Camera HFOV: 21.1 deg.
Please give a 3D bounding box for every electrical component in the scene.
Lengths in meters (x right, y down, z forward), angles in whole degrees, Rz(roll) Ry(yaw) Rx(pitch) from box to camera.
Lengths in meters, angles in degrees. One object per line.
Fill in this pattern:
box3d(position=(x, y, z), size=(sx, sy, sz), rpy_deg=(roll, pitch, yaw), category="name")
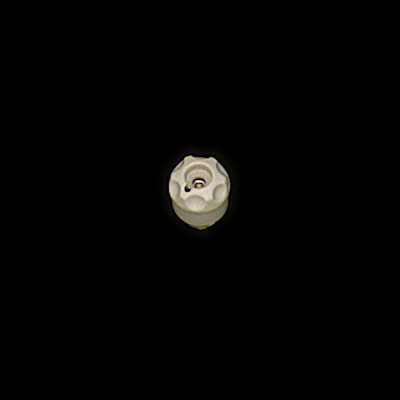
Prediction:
box3d(position=(0.000, 0.000, 0.633), size=(0.035, 0.035, 0.061), rpy_deg=(0, -27, 1), category="electrical component")
